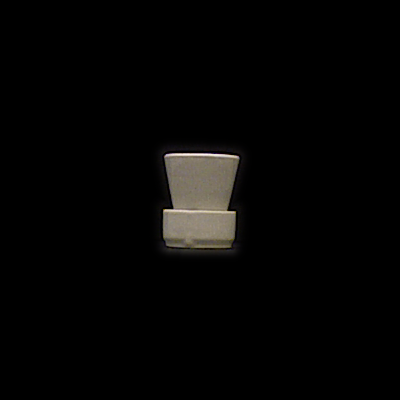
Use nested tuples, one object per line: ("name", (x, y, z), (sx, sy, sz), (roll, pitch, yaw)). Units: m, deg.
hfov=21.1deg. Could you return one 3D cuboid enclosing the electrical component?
("electrical component", (0.000, 0.000, 0.651), (0.045, 0.055, 0.044), (2, 2, 0))
